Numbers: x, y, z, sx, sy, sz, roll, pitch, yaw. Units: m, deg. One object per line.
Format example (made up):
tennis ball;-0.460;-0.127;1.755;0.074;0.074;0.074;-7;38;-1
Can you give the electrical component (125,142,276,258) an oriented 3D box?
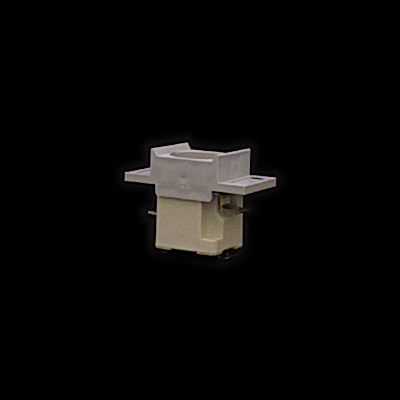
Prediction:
electrical component;0.000;0.000;0.644;0.080;0.064;0.042;7;14;28
